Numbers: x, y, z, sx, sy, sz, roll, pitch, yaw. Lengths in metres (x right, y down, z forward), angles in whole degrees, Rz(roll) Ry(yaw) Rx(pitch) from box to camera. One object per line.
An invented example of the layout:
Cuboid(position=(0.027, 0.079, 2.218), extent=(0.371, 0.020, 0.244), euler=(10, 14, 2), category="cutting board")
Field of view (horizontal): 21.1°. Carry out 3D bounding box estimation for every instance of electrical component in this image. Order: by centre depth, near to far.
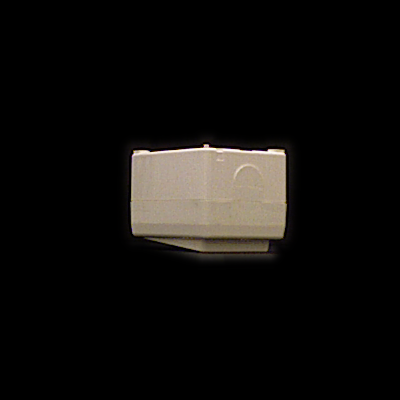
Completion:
Cuboid(position=(0.000, 0.000, 0.653), extent=(0.062, 0.061, 0.096), euler=(1, 0, -36), category="electrical component")
